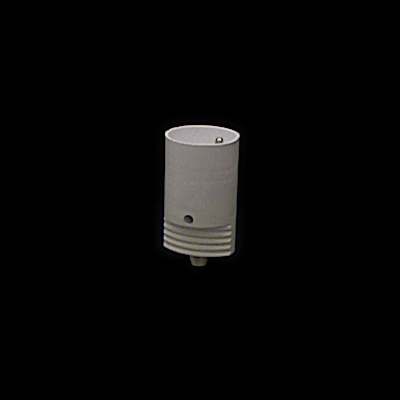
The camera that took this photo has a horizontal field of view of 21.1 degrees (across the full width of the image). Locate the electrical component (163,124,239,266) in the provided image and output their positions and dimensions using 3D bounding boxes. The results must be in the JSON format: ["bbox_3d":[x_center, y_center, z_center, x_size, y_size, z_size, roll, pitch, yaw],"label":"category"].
[{"bbox_3d":[0.000,0.000,0.636,0.043,0.082,0.042,1,22,0],"label":"electrical component"}]
